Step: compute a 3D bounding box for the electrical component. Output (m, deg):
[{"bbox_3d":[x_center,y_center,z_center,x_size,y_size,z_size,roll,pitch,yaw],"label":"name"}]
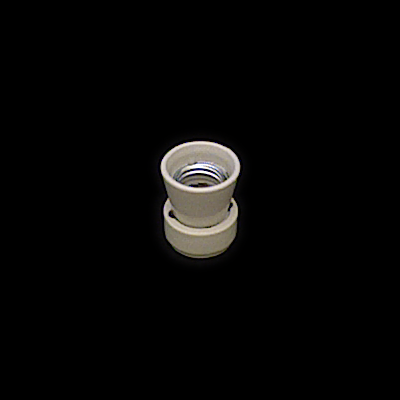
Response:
[{"bbox_3d":[0.000,0.000,0.632,0.045,0.055,0.044,1,41,0],"label":"electrical component"}]
